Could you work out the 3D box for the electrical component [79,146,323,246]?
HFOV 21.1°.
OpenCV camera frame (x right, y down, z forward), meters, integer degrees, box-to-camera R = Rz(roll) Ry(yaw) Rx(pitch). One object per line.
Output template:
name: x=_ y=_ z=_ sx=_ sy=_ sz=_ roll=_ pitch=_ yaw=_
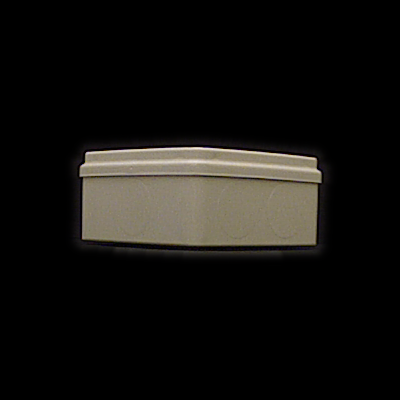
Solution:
electrical component: x=0.000 y=0.000 z=0.652 sx=0.109 sy=0.056 sz=0.108 roll=2 pitch=-1 yaw=-44
